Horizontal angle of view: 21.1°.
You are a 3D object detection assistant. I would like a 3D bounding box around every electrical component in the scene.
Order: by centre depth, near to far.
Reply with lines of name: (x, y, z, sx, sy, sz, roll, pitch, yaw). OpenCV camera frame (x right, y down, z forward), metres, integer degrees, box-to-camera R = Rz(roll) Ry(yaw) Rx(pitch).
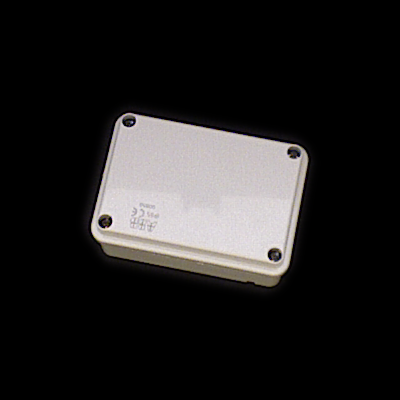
electrical component: (0.000, 0.000, 0.626, 0.113, 0.078, 0.057, 11, -16, 3)
